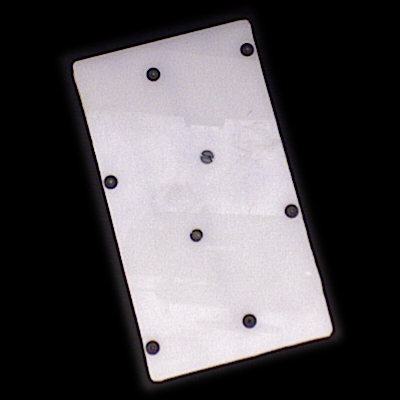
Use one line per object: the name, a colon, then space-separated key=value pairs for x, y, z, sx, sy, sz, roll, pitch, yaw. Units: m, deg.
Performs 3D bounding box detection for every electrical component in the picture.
electrical component: x=0.000 y=0.000 z=0.626 sx=0.105 sy=0.187 sz=0.060 roll=-15 pitch=-7 yaw=-2
